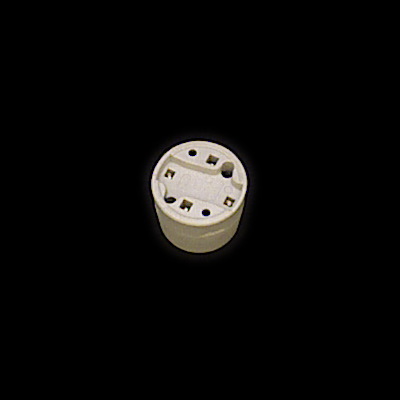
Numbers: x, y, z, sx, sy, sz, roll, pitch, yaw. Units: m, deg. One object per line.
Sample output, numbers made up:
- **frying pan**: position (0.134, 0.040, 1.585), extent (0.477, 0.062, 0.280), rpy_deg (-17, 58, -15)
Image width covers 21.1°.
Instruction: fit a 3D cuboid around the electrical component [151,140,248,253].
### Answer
- **electrical component**: position (0.000, 0.000, 0.634), extent (0.055, 0.056, 0.047), rpy_deg (0, -27, 0)
